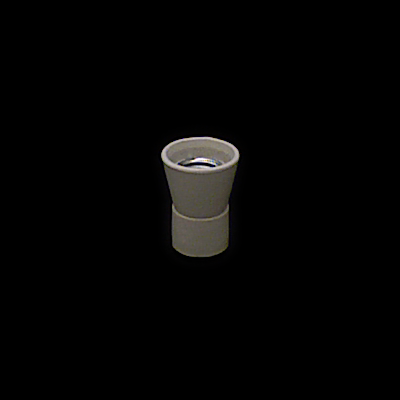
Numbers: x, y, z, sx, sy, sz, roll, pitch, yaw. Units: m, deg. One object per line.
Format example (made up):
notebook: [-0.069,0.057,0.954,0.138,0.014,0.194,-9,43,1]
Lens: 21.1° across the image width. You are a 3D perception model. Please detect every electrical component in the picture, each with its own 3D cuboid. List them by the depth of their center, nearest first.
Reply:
electrical component: [0.000,0.000,0.635,0.044,0.066,0.044,0,30,0]
